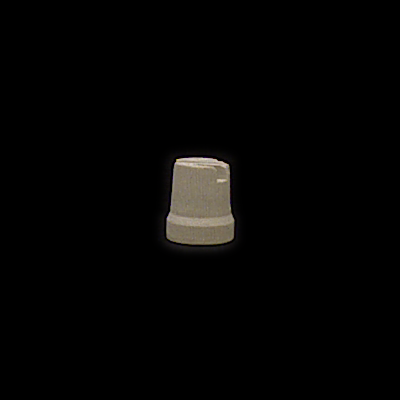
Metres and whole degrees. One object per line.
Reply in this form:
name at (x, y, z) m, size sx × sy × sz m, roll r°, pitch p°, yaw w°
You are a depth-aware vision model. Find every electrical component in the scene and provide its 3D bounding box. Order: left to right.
electrical component at (0.000, 0.000, 0.645) m, size 0.040 × 0.046 × 0.040 m, roll 1°, pitch 12°, yaw 0°
